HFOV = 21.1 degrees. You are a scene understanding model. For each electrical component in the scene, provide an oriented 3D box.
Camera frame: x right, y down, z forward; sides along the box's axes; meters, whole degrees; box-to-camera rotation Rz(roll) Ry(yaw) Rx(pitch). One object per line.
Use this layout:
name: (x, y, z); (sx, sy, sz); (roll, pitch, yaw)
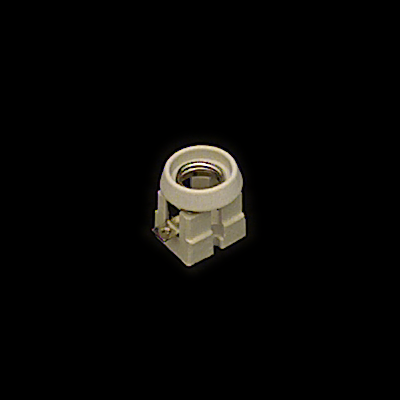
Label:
electrical component: (0.000, 0.000, 0.639); (0.067, 0.056, 0.048); (-29, 48, -28)
